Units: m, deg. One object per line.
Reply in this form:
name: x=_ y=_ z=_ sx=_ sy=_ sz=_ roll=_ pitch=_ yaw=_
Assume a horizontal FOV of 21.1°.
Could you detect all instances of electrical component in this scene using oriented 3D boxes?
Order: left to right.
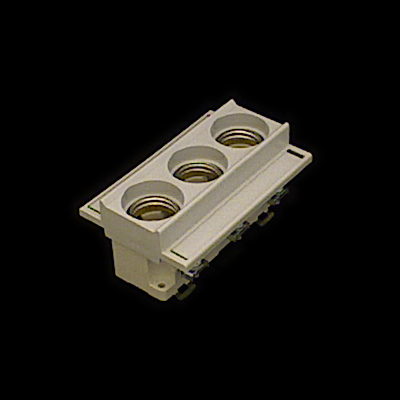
electrical component: x=0.000 y=0.000 z=0.642 sx=0.078 sy=0.064 sz=0.121 roll=27 pitch=49 yaw=28
